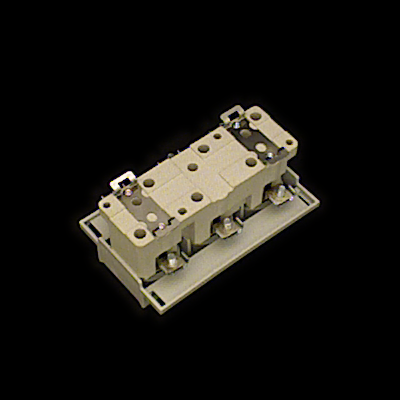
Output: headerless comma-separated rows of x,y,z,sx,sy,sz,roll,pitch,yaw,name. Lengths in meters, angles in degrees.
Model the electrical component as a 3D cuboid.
0.000,0.000,0.634,0.122,0.078,0.063,-33,-30,-22,electrical component
